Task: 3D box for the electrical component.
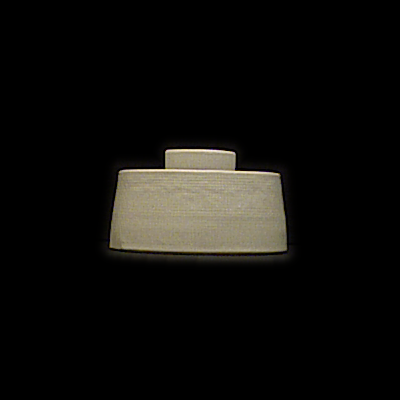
[{"bbox_3d":[0.000,0.000,0.655,0.108,0.060,0.108,2,1,1],"label":"electrical component"}]
